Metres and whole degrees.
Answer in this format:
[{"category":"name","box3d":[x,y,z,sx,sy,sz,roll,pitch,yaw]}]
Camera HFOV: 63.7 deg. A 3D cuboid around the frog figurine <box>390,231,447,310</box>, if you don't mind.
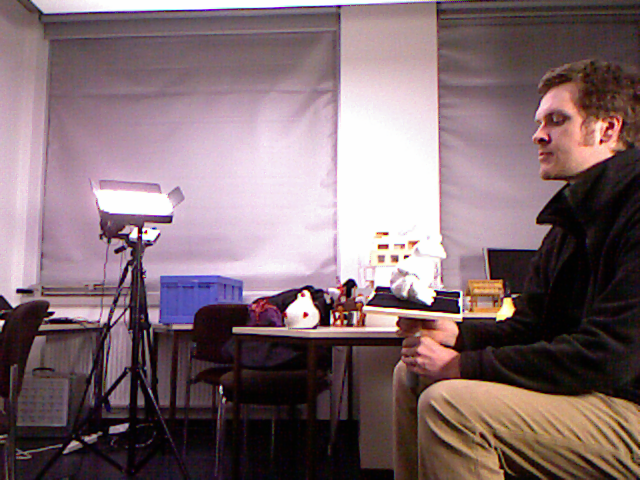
[{"category":"frog figurine","box3d":[0.219,0.059,1.152,0.123,0.158,0.138,7,11,38]}]
